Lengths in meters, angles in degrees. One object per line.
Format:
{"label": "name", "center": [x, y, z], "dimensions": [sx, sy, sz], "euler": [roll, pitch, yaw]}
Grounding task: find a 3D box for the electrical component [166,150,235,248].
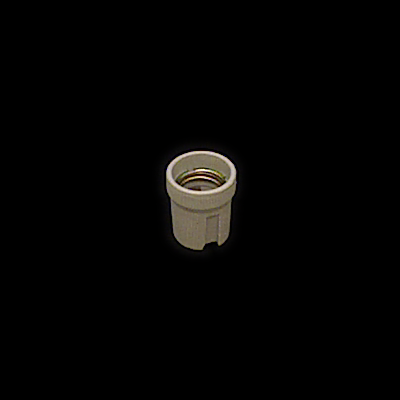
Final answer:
{"label": "electrical component", "center": [0.000, 0.000, 0.635], "dimensions": [0.040, 0.047, 0.039], "euler": [1, 42, 0]}
